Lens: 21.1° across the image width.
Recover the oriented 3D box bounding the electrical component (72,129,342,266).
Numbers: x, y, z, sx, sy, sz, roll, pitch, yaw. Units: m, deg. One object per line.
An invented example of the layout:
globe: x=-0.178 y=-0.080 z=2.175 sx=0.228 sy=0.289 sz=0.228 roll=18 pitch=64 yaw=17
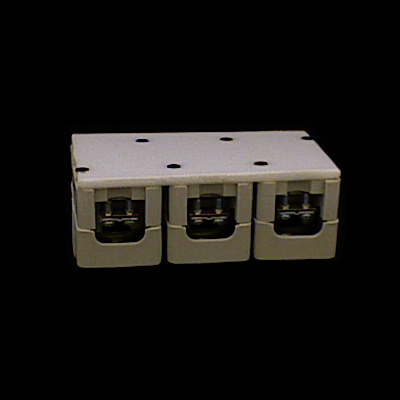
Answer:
electrical component: x=0.000 y=0.000 z=0.648 sx=0.150 sy=0.063 sz=0.088 roll=-1 pitch=21 yaw=-8
